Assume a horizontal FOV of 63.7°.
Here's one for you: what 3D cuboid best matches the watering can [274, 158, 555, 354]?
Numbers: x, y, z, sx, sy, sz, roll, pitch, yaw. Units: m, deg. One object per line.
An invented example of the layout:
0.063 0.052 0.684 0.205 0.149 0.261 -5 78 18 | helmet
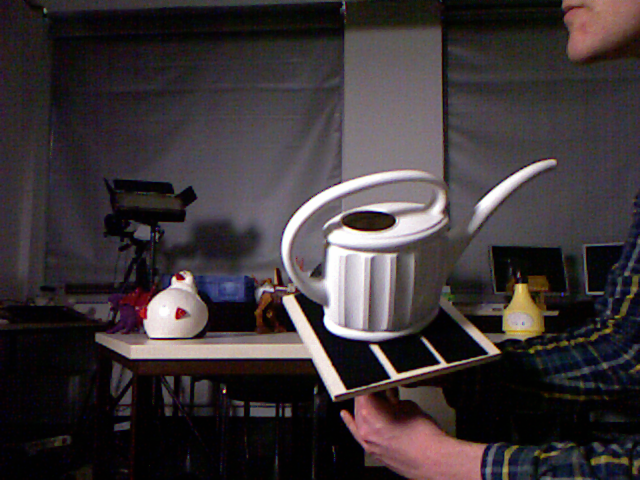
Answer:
0.118 0.014 0.613 0.351 0.221 0.107 -10 33 -16 | watering can
